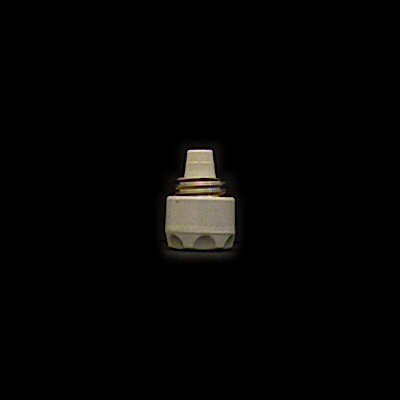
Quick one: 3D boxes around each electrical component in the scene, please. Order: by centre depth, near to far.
[{"bbox_3d":[0.000,0.000,0.656,0.043,0.062,0.043,0,2,1],"label":"electrical component"}]
